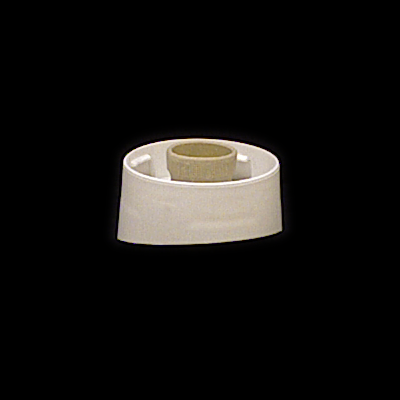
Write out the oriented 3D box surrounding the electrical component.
[{"bbox_3d":[0.000,0.000,0.638,0.099,0.065,0.097,1,20,0],"label":"electrical component"}]
